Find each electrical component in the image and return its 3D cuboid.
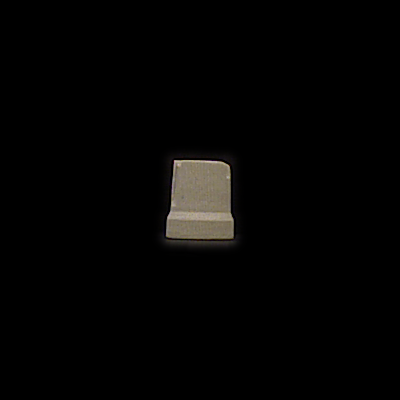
[{"bbox_3d":[0.000,0.000,0.649,0.040,0.046,0.040,1,2,0],"label":"electrical component"}]
